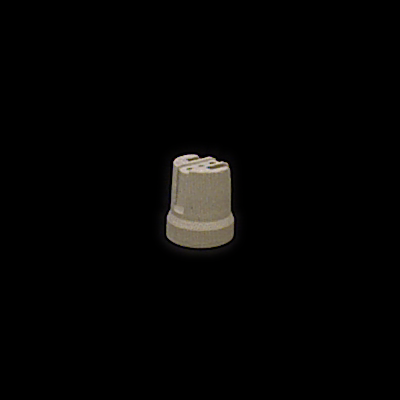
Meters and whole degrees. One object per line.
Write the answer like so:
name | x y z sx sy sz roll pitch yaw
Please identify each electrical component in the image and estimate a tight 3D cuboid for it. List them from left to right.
electrical component | 0.000 0.000 0.642 0.040 0.046 0.040 1 22 0
